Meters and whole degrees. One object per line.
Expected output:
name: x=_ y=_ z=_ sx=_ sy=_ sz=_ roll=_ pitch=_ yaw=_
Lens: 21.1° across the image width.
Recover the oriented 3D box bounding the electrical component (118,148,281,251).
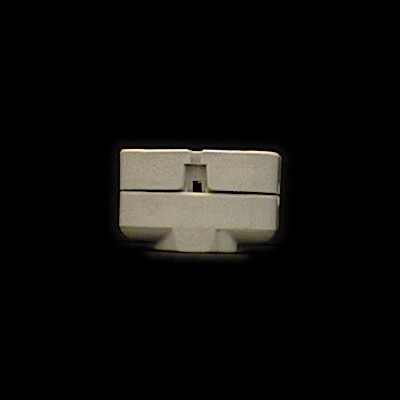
electrical component: x=0.000 y=0.000 z=0.654 sx=0.095 sy=0.059 sz=0.054 roll=2 pitch=1 yaw=7
